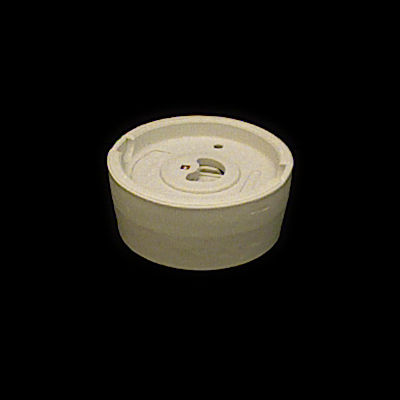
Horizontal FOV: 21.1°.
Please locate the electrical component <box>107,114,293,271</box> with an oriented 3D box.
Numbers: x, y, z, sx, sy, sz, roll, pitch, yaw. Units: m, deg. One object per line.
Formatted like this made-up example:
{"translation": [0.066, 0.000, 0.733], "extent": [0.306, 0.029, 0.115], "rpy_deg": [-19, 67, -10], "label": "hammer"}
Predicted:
{"translation": [0.000, 0.000, 0.640], "extent": [0.108, 0.061, 0.106], "rpy_deg": [2, 32, 0], "label": "electrical component"}
